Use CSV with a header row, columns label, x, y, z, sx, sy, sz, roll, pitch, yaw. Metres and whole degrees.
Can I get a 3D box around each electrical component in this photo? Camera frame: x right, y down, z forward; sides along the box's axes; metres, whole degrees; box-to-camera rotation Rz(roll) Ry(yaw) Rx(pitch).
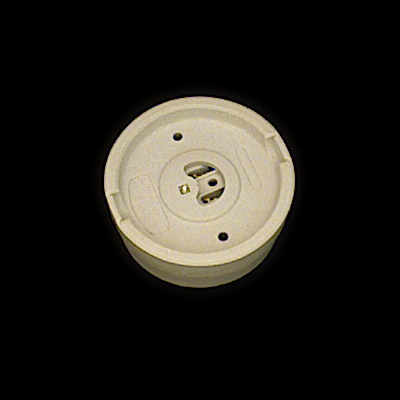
label,x,y,z,sx,sy,sz,roll,pitch,yaw
electrical component,0.000,0.000,0.632,0.108,0.108,0.060,0,-27,-1
